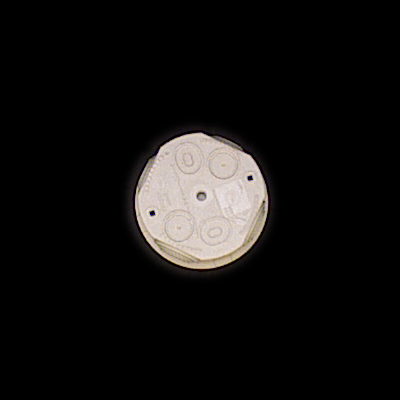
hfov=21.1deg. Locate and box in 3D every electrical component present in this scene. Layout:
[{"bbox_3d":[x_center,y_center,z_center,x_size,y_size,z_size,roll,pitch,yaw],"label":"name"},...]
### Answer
[{"bbox_3d":[0.000,0.000,0.633,0.080,0.080,0.050,0,-7,0],"label":"electrical component"}]
